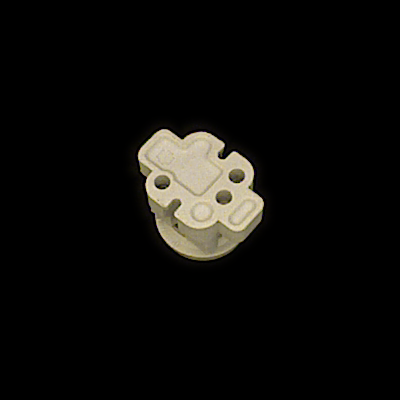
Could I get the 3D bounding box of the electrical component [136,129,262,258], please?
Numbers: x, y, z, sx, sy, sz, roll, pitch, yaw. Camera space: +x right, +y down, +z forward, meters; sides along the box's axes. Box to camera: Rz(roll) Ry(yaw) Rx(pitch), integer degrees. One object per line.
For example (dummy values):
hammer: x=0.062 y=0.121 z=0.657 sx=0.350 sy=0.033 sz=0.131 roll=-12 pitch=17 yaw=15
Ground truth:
electrical component: x=0.000 y=0.000 z=0.635 sx=0.078 sy=0.058 sz=0.057 roll=36 pitch=-20 yaw=18
